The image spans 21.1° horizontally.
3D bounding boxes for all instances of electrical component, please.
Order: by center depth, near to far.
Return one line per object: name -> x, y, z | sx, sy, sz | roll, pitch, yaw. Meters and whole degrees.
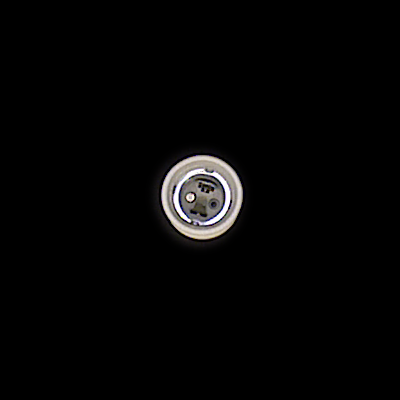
electrical component -> 0.000, 0.000, 0.629 | 0.045, 0.045, 0.055 | 0, -7, 0
